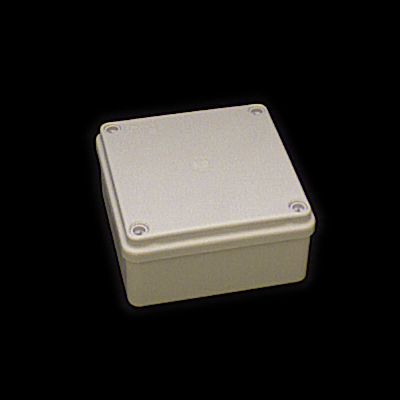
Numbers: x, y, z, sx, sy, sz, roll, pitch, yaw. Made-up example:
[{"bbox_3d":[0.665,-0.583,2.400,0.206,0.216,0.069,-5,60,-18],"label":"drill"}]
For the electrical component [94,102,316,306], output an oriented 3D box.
[{"bbox_3d":[0.000,0.000,0.631,0.109,0.056,0.107,-8,44,-10],"label":"electrical component"}]
